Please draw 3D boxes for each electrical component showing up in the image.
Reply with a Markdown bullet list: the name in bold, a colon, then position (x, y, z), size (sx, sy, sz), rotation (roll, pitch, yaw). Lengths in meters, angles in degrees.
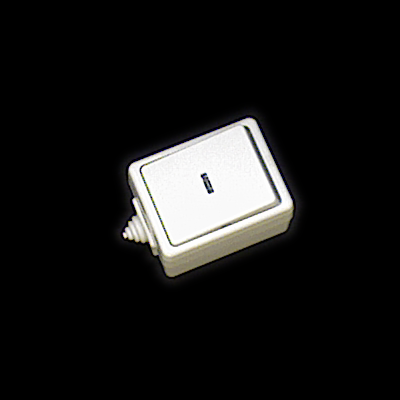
- **electrical component**: position (0.000, 0.000, 0.625), size (0.096, 0.062, 0.060), rotation (-22, -16, -7)
